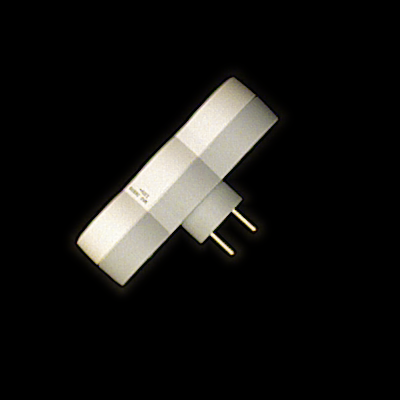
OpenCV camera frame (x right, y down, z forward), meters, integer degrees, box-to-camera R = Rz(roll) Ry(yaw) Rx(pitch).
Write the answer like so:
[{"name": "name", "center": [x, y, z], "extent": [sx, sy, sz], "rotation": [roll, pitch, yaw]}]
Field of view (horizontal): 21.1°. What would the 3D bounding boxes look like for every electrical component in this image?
[{"name": "electrical component", "center": [0.000, 0.000, 0.639], "extent": [0.074, 0.138, 0.052], "rotation": [43, -4, 2]}]
